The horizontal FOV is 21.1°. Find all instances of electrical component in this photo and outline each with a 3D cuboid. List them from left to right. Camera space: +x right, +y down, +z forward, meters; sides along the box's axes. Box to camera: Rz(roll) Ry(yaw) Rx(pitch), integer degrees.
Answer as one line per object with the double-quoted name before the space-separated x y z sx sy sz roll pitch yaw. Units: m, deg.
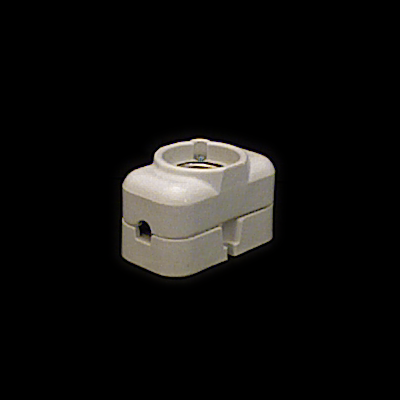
"electrical component" 0.000 0.000 0.647 0.053 0.060 0.095 20 28 38
